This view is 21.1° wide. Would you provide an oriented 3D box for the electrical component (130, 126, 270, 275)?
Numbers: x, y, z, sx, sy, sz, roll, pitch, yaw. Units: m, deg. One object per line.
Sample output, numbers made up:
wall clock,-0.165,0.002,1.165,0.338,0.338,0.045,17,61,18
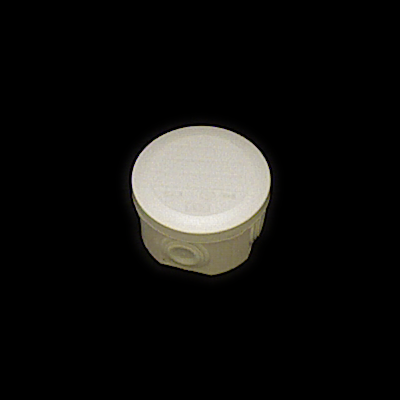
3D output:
electrical component,0.000,0.000,0.631,0.080,0.080,0.051,0,-38,0
